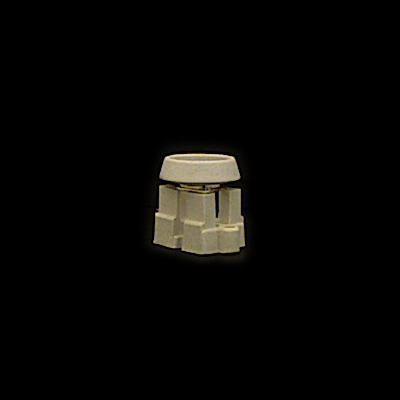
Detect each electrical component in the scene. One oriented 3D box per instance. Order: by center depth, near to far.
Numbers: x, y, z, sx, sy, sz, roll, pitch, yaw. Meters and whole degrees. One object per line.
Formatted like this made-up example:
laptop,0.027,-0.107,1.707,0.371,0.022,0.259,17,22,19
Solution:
electrical component,0.000,0.000,0.651,0.065,0.056,0.049,12,14,42
